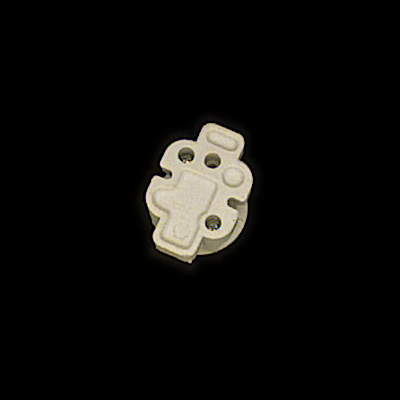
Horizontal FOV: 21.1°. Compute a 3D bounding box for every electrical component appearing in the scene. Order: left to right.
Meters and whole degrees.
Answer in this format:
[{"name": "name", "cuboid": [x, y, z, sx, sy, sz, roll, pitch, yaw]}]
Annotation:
[{"name": "electrical component", "cuboid": [0.000, 0.000, 0.635, 0.058, 0.079, 0.056, 22, -14, 6]}]
